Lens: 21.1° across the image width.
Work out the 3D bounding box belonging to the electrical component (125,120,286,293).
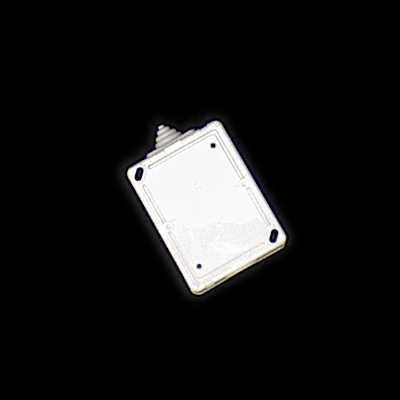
[{"bbox_3d":[0.000,0.000,0.627,0.062,0.096,0.061,-29,-6,-2],"label":"electrical component"}]
